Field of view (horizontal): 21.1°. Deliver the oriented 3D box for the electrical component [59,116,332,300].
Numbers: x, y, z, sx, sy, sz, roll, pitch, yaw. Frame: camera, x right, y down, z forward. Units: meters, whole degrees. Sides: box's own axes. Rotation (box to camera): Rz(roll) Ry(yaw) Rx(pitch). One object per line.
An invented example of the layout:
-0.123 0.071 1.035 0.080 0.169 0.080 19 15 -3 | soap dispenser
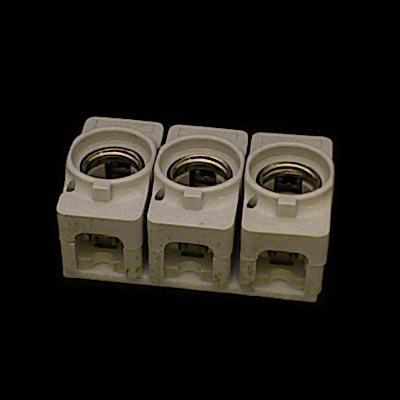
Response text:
0.000 0.000 0.635 0.150 0.063 0.088 5 42 5 | electrical component
